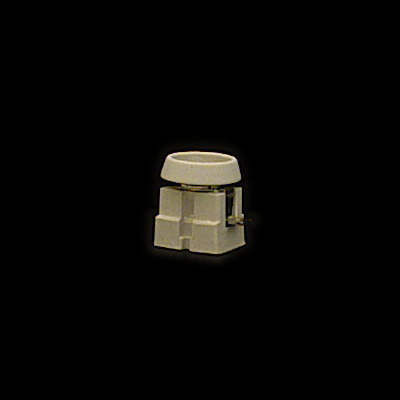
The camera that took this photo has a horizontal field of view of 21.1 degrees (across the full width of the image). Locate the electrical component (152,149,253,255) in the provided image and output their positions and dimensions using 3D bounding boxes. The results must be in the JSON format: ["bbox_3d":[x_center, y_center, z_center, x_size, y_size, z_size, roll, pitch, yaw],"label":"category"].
[{"bbox_3d":[0.000,0.000,0.652,0.066,0.056,0.048,7,15,27],"label":"electrical component"}]
